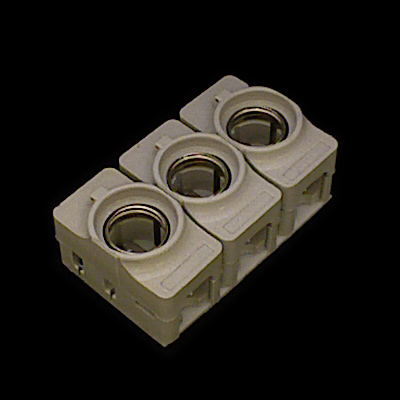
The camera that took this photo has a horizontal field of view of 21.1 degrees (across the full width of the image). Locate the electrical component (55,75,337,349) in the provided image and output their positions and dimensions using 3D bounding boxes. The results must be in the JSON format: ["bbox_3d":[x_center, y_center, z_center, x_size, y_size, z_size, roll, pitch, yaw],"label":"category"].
[{"bbox_3d":[0.000,0.000,0.634,0.089,0.062,0.149,36,59,25],"label":"electrical component"}]
